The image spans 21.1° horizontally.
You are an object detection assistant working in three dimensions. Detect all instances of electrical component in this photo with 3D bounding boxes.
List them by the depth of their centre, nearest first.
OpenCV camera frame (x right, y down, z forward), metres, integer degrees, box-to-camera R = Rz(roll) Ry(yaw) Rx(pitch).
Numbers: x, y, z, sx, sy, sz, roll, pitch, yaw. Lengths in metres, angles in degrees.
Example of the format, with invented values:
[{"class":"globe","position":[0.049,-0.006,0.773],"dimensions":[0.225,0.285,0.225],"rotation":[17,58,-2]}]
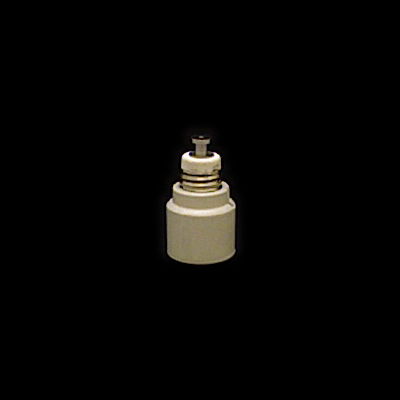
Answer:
[{"class":"electrical component","position":[0.000,0.000,0.635],"dimensions":[0.040,0.079,0.039],"rotation":[0,21,0]}]
